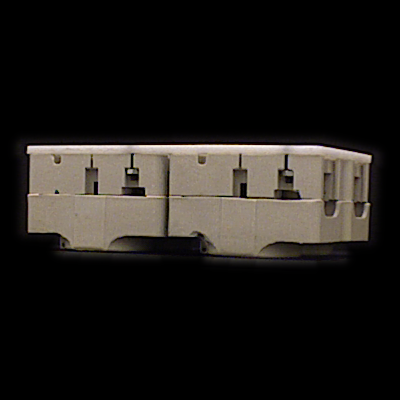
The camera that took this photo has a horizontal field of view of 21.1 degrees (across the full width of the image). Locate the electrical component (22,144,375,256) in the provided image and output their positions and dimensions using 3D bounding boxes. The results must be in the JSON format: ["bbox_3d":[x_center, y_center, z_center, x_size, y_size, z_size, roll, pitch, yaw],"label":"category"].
[{"bbox_3d":[0.000,0.000,0.650,0.186,0.060,0.106,1,0,24],"label":"electrical component"}]
